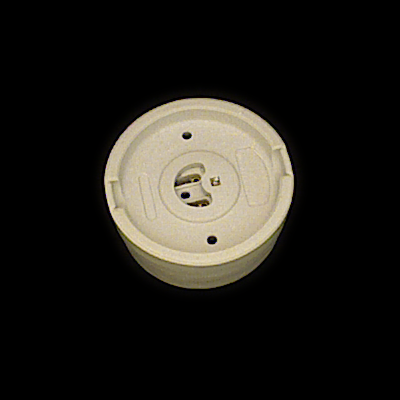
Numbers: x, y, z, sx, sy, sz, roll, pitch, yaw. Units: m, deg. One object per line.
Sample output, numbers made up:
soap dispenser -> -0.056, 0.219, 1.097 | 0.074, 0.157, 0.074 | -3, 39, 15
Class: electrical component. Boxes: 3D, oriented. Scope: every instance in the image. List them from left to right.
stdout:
electrical component -> 0.000, 0.000, 0.635 | 0.108, 0.108, 0.060 | 0, -27, 0
